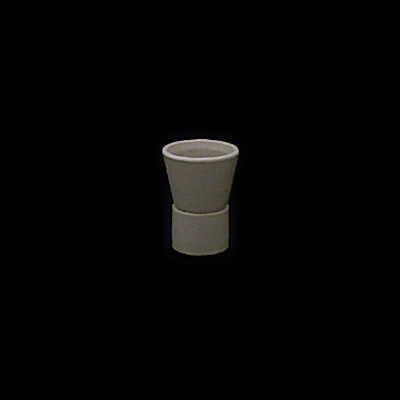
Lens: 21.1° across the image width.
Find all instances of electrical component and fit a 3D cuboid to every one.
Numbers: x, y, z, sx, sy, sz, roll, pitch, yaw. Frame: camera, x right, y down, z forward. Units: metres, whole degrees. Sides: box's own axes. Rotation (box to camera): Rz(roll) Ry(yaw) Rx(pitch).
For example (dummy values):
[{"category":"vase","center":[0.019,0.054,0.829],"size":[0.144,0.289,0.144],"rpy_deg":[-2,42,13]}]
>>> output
[{"category":"electrical component","center":[0.000,0.000,0.639],"size":[0.044,0.066,0.044],"rpy_deg":[0,21,0]}]
